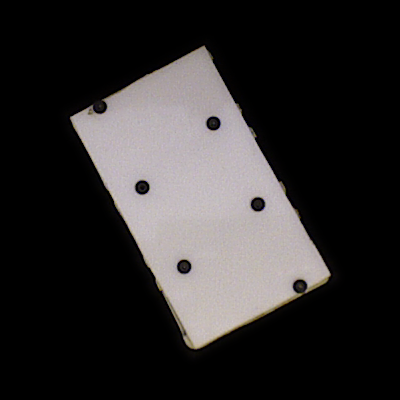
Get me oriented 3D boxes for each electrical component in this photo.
[{"bbox_3d":[0.000,0.000,0.631,0.089,0.150,0.061,-28,-5,-3],"label":"electrical component"}]
